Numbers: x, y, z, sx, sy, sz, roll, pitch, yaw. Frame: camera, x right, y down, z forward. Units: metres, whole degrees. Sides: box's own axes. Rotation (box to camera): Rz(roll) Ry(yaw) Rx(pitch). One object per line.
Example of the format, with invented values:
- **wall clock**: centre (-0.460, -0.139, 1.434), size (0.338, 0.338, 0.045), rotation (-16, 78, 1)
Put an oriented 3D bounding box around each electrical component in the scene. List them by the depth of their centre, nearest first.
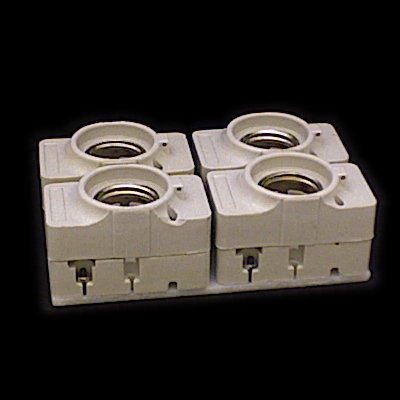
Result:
- **electrical component**: centre (0.000, 0.000, 0.635), size (0.186, 0.061, 0.104), rotation (-4, 31, -9)
